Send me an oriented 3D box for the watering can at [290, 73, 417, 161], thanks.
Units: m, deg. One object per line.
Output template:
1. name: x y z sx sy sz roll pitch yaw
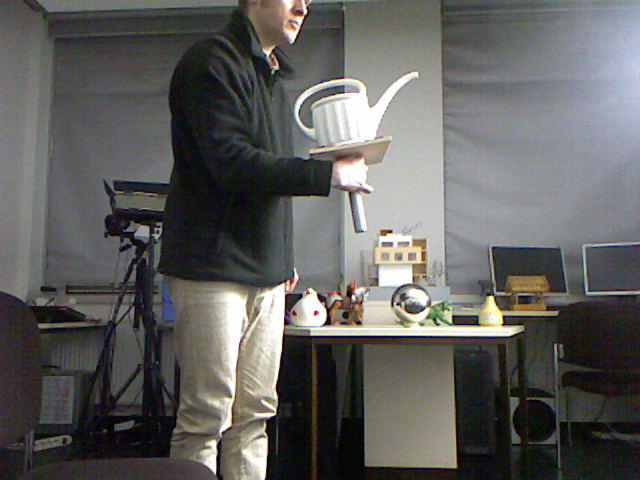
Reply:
1. watering can: 0.100 -0.321 1.357 0.349 0.225 0.104 -11 1 0
